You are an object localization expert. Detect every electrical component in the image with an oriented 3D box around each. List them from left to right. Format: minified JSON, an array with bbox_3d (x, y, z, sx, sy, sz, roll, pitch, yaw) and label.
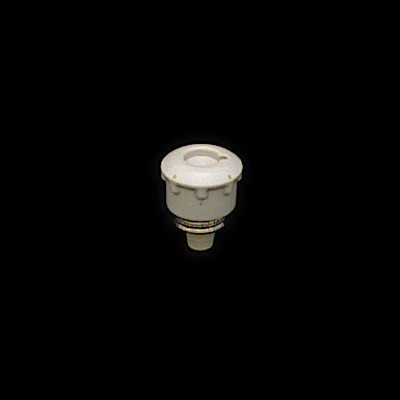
[{"bbox_3d":[0.000,0.000,0.643,0.048,0.063,0.047,1,32,0],"label":"electrical component"}]
